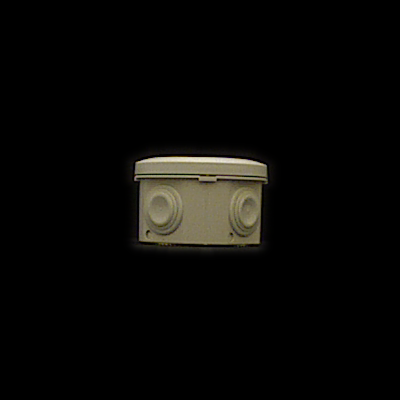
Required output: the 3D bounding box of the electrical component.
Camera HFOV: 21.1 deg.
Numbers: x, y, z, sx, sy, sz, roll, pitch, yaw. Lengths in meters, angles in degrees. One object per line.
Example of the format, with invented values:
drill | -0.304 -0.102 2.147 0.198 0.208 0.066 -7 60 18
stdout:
electrical component | 0.000 0.000 0.649 0.080 0.051 0.080 1 0 0
